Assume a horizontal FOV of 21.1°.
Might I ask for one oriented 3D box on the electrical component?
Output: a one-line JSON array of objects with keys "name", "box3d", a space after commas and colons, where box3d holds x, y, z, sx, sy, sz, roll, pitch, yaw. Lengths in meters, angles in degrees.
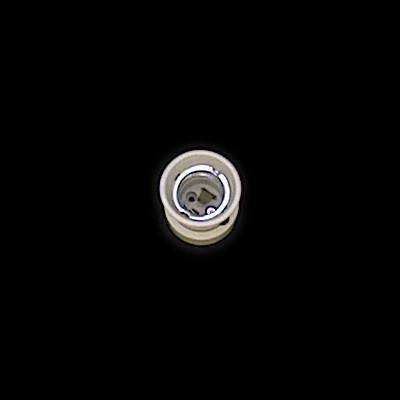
[{"name": "electrical component", "box3d": [0.000, 0.000, 0.627, 0.045, 0.045, 0.055, 0, -16, 1]}]
